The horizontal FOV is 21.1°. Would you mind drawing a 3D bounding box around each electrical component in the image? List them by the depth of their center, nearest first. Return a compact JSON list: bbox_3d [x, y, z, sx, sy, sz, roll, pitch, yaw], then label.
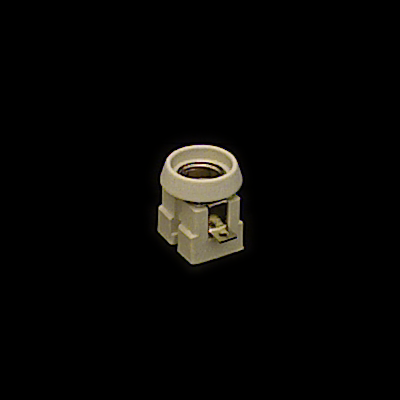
[{"bbox_3d":[0.000,0.000,0.643,0.048,0.056,0.065,-20,38,-26],"label":"electrical component"}]
